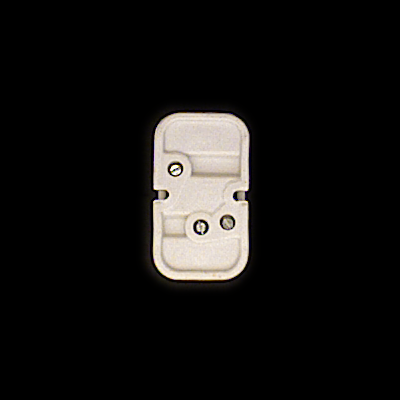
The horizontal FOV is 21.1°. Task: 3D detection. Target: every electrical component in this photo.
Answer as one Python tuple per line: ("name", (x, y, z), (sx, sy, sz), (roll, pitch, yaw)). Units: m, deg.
("electrical component", (0.000, 0.000, 0.637), (0.054, 0.095, 0.059), (0, -7, 1))
